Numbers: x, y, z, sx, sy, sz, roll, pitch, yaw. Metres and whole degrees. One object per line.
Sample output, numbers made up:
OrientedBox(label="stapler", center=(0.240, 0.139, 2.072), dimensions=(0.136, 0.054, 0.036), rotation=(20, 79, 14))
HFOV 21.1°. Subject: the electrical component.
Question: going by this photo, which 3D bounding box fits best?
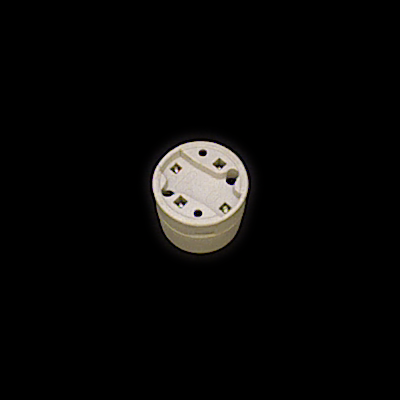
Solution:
OrientedBox(label="electrical component", center=(0.000, 0.000, 0.634), dimensions=(0.055, 0.056, 0.047), rotation=(0, -27, -1))
